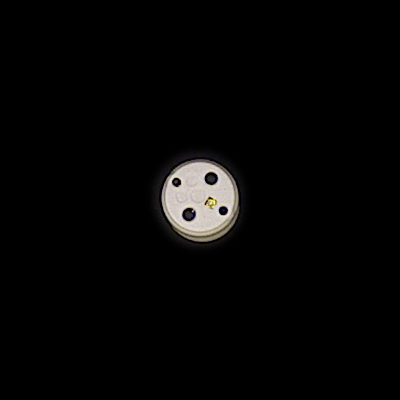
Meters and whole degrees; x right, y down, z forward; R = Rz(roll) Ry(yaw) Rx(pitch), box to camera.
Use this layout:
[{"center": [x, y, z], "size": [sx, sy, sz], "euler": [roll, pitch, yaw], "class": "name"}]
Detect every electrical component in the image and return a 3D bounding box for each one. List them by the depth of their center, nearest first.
[{"center": [0.000, 0.000, 0.629], "size": [0.045, 0.045, 0.055], "euler": [0, -6, 1], "class": "electrical component"}]
